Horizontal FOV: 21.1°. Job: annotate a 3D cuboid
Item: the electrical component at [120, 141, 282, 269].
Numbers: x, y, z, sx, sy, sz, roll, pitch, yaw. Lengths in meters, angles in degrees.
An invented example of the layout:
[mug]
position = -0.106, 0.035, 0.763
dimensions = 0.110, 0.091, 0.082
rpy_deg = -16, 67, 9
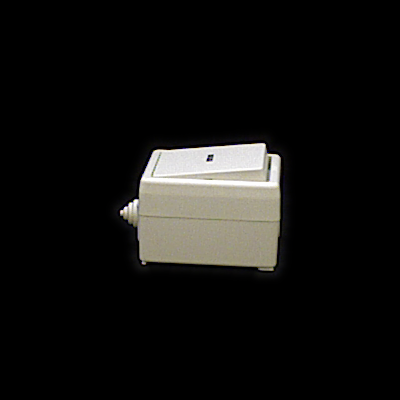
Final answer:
[electrical component]
position = 0.000, 0.000, 0.639
dimensions = 0.096, 0.061, 0.061
rpy_deg = 3, 21, 4
